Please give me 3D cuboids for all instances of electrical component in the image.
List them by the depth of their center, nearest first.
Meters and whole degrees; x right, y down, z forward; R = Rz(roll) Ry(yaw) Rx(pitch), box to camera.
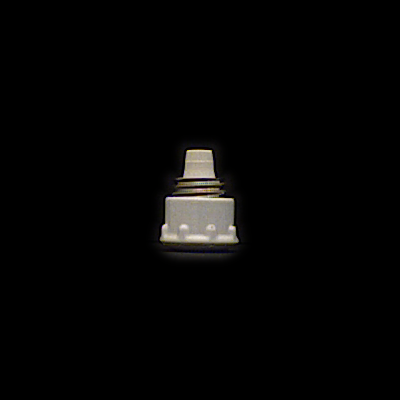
[{"bbox_3d":[0.000,0.000,0.655,0.048,0.062,0.048,0,1,1],"label":"electrical component"}]
